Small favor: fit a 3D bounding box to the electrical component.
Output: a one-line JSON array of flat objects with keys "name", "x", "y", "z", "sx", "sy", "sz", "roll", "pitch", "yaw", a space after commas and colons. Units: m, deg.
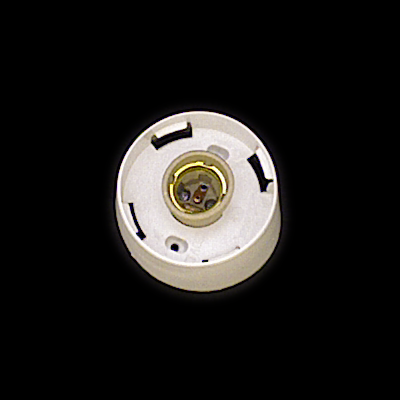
[{"name": "electrical component", "x": 0.000, "y": 0.000, "z": 0.624, "sx": 0.099, "sy": 0.099, "sz": 0.064, "roll": 0, "pitch": -17, "yaw": -1}]
